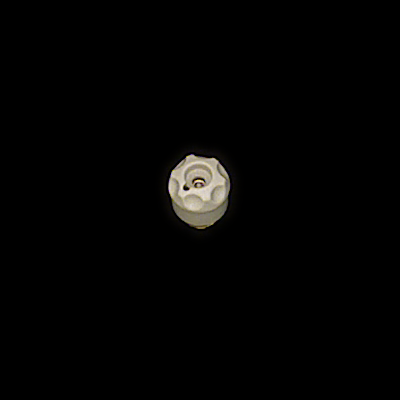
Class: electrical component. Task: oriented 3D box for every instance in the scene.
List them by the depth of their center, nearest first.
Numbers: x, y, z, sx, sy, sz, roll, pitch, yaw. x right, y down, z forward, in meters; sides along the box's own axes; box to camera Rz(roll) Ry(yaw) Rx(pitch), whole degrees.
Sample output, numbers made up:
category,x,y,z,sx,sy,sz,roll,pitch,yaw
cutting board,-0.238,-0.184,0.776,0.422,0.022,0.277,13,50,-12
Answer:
category,x,y,z,sx,sy,sz,roll,pitch,yaw
electrical component,0.000,0.000,0.633,0.035,0.035,0.061,0,-26,1
